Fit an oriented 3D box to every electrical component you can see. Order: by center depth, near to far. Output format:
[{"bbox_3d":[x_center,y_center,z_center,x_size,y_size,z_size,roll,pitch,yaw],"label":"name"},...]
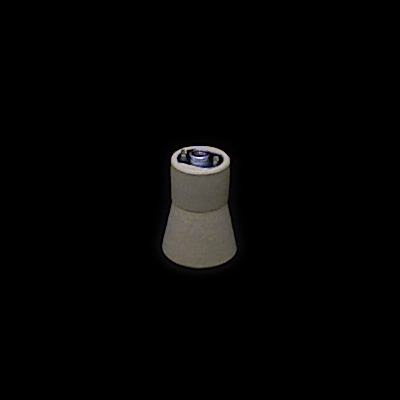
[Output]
[{"bbox_3d":[0.000,0.000,0.634,0.044,0.066,0.044,1,30,0],"label":"electrical component"}]
